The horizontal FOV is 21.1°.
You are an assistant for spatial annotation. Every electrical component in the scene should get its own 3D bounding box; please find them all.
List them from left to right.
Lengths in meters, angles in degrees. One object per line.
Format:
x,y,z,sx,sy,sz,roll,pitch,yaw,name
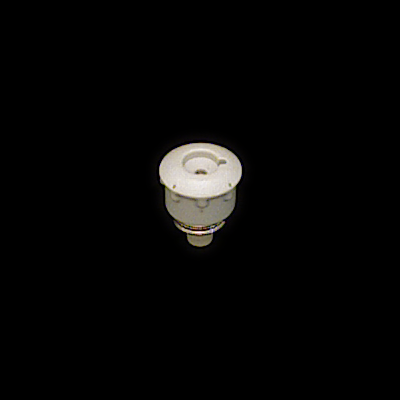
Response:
0.000,0.000,0.639,0.048,0.062,0.047,1,43,0,electrical component
